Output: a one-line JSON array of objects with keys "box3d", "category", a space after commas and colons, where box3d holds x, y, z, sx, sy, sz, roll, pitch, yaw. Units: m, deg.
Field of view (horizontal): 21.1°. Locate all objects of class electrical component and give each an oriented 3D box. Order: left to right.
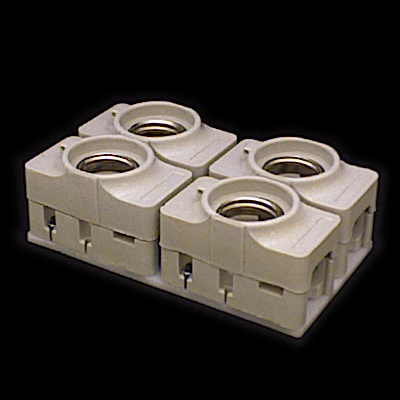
[{"box3d": [0.000, 0.000, 0.633, 0.185, 0.061, 0.105, 17, 35, 25], "category": "electrical component"}]
